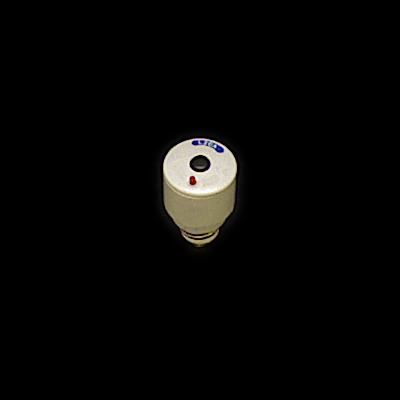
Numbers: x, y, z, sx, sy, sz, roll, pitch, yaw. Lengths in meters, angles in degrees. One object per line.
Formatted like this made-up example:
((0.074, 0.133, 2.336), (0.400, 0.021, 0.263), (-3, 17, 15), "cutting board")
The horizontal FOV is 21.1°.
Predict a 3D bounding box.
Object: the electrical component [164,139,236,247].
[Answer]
((0.000, 0.000, 0.619), (0.040, 0.040, 0.078), (0, -37, 0), "electrical component")
